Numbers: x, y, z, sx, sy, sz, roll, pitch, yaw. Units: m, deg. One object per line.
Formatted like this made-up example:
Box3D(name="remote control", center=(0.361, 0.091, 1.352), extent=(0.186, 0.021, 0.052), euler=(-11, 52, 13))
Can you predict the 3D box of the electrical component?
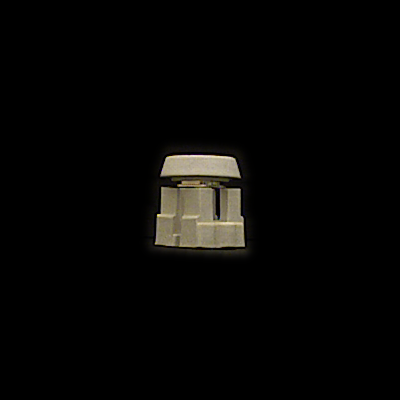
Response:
Box3D(name="electrical component", center=(0.000, 0.000, 0.656), extent=(0.049, 0.055, 0.065), euler=(2, 0, -40))
